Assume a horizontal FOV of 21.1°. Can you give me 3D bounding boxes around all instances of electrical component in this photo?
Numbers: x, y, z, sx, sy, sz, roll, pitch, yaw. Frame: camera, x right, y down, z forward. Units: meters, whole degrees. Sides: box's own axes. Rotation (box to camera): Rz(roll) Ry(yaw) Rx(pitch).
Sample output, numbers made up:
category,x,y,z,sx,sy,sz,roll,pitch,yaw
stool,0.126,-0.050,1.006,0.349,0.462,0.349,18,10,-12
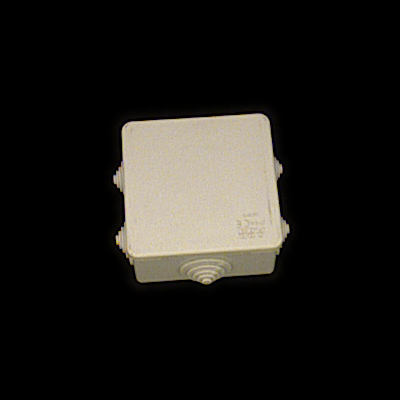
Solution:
category,x,y,z,sx,sy,sz,roll,pitch,yaw
electrical component,0.000,0.000,0.639,0.100,0.100,0.048,-3,-26,-2
